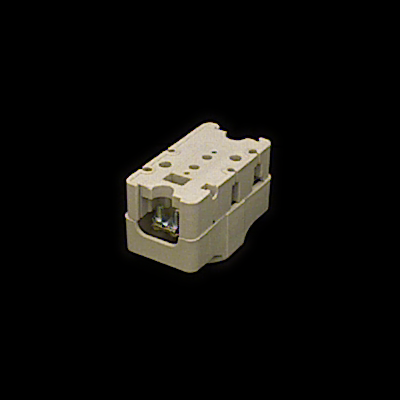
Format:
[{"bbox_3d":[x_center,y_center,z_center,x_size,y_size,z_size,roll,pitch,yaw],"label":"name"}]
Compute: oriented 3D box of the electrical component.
[{"bbox_3d":[0.000,0.000,0.642,0.049,0.056,0.089,20,37,26],"label":"electrical component"}]
